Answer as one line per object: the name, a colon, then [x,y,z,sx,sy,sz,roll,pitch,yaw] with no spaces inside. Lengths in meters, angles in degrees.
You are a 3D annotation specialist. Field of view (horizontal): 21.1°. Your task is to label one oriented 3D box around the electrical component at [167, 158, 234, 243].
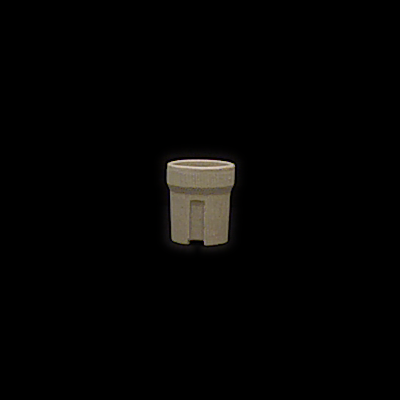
electrical component: [0.000,0.000,0.646,0.040,0.046,0.040,1,11,0]
